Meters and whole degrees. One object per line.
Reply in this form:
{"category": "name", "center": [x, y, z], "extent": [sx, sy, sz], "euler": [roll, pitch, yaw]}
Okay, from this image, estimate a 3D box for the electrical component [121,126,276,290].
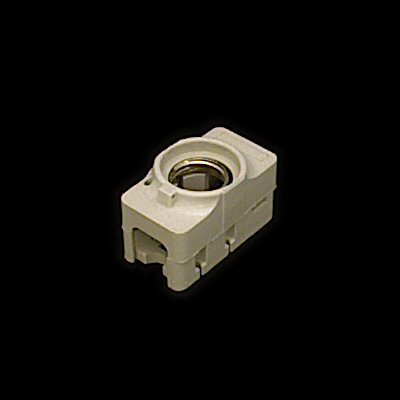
{"category": "electrical component", "center": [0.000, 0.000, 0.639], "extent": [0.049, 0.056, 0.090], "euler": [30, 50, 28]}
